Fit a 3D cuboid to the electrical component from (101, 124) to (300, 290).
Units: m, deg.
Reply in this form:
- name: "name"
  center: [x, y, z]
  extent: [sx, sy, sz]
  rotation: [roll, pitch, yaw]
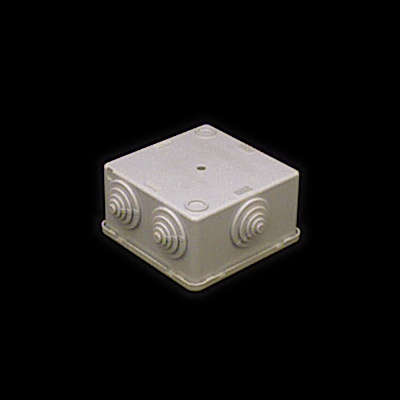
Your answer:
- name: "electrical component"
  center: [0.000, 0.000, 0.637]
  extent: [0.099, 0.049, 0.098]
  rotation: [-24, 40, -35]
